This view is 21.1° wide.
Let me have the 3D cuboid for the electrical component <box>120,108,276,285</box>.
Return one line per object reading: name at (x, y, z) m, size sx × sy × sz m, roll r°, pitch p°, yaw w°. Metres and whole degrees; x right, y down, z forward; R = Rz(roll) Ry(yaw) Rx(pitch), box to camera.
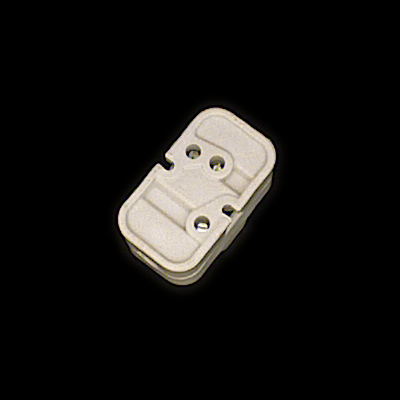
electrical component at (0.000, 0.000, 0.635) m, size 0.053 × 0.096 × 0.059 m, roll 37°, pitch -12°, yaw 10°
